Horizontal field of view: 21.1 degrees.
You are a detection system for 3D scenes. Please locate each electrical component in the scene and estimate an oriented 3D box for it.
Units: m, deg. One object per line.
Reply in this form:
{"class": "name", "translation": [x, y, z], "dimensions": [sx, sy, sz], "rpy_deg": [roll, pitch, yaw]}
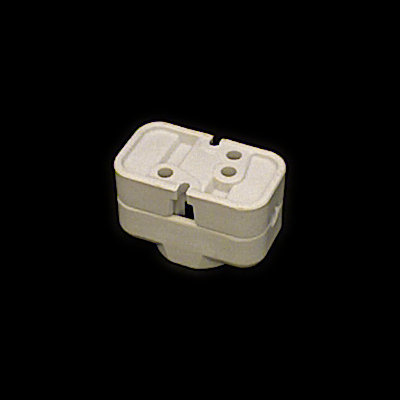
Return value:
{"class": "electrical component", "translation": [0.000, 0.000, 0.640], "dimensions": [0.094, 0.060, 0.053], "rpy_deg": [16, 45, 16]}
